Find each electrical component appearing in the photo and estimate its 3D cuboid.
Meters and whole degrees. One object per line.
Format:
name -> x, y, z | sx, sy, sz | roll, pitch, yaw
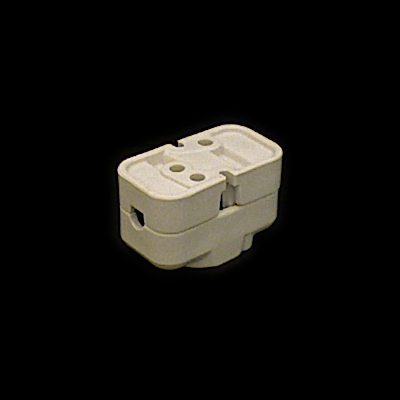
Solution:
electrical component -> 0.000, 0.000, 0.641 | 0.095, 0.060, 0.053 | -22, 39, -33
